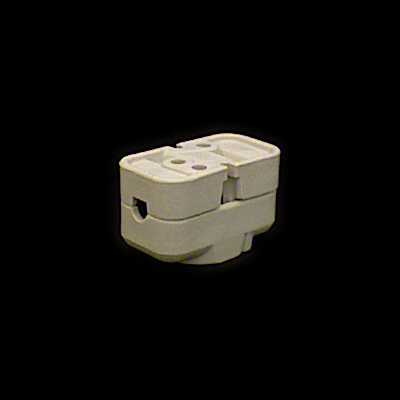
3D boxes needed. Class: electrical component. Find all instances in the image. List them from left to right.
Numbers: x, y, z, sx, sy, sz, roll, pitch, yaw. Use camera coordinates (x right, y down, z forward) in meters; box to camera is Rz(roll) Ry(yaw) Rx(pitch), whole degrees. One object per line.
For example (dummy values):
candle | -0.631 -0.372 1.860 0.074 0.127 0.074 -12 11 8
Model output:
electrical component | 0.000 0.000 0.645 0.095 0.060 0.053 -17 28 -39
